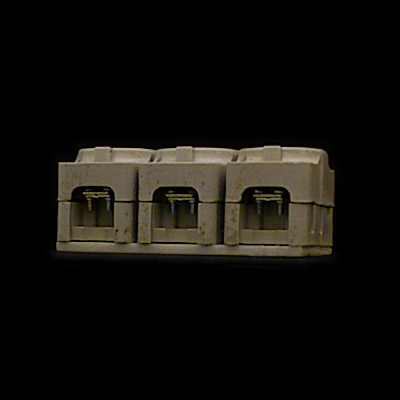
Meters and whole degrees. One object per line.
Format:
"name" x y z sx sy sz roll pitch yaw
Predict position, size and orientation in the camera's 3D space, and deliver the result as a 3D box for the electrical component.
"electrical component" 0.000 0.000 0.655 0.150 0.062 0.089 1 0 17
